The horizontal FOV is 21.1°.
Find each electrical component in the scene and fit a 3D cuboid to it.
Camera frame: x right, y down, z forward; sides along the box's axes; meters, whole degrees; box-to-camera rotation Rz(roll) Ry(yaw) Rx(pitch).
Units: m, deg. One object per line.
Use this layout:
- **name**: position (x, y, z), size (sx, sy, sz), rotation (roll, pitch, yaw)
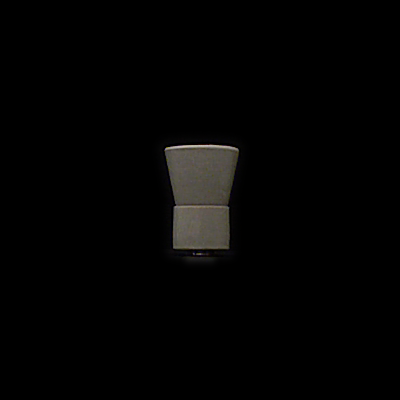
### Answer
- **electrical component**: position (0.000, 0.000, 0.651), size (0.044, 0.065, 0.044), rotation (0, 0, 0)
